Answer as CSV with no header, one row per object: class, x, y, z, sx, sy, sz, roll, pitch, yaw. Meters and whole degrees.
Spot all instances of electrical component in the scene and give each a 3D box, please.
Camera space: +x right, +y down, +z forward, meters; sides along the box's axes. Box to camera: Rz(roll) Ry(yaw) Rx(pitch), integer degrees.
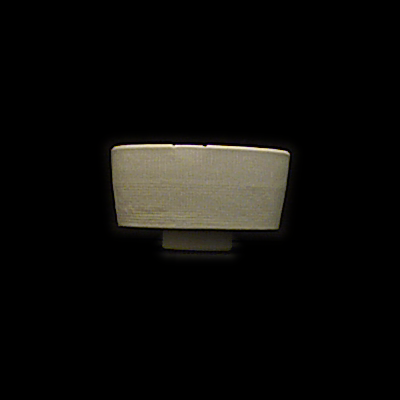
electrical component,0.000,0.000,0.653,0.108,0.060,0.108,1,0,0
